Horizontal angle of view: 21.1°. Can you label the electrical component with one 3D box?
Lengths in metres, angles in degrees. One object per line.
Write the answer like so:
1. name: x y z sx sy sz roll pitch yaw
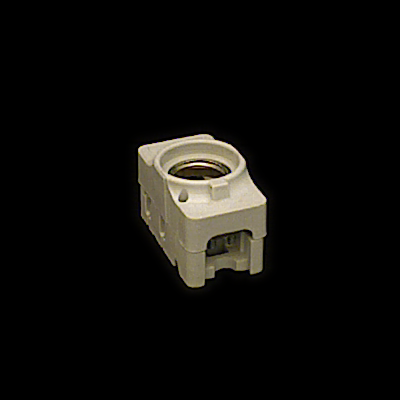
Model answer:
1. electrical component: 0.000 0.000 0.642 0.050 0.056 0.088 -12 34 -20
